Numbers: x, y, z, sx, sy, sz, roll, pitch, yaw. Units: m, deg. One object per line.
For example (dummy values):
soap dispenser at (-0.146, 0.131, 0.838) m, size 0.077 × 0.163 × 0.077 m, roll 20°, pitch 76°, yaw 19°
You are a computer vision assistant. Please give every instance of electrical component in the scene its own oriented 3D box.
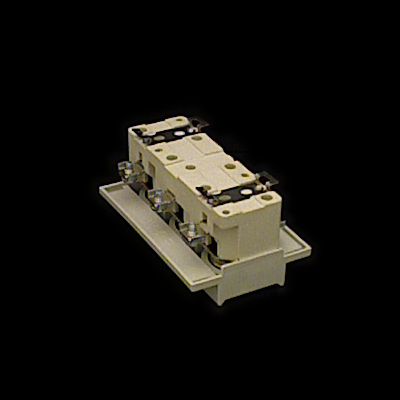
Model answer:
electrical component at (0.000, 0.000, 0.643) m, size 0.079 × 0.064 × 0.119 m, roll -16°, pitch 36°, yaw -26°
